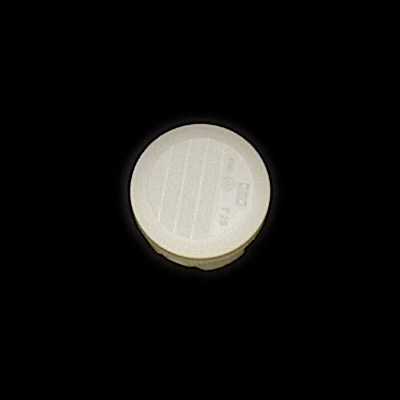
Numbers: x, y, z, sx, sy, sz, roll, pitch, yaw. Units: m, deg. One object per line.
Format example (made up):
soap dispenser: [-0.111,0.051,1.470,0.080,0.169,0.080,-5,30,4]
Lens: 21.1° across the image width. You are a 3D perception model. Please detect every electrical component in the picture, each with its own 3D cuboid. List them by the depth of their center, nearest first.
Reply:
electrical component: [0.000,0.000,0.629,0.080,0.080,0.050,0,-17,0]
